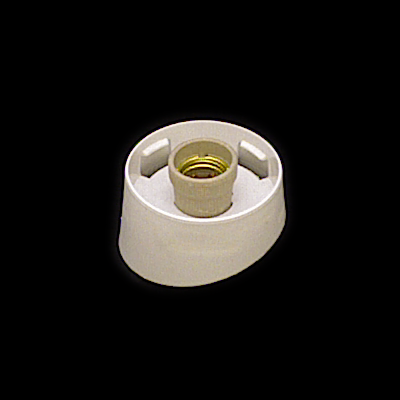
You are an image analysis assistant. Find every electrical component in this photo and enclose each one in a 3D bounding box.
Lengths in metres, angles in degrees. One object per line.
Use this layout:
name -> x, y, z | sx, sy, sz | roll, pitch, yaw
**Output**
electrical component -> 0.000, 0.000, 0.630 | 0.099, 0.065, 0.098 | 0, 42, 0
